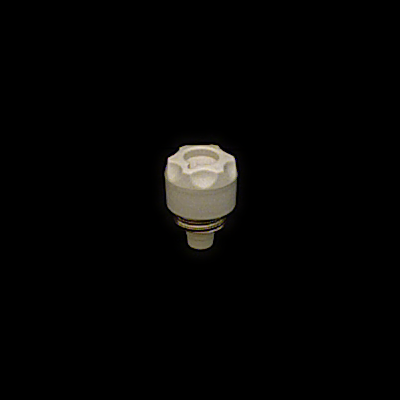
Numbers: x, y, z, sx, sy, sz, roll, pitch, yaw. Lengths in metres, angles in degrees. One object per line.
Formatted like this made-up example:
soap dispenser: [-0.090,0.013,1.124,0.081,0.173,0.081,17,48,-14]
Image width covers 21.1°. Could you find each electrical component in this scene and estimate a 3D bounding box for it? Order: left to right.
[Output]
electrical component: [0.000,0.000,0.642,0.043,0.063,0.043,1,31,0]
